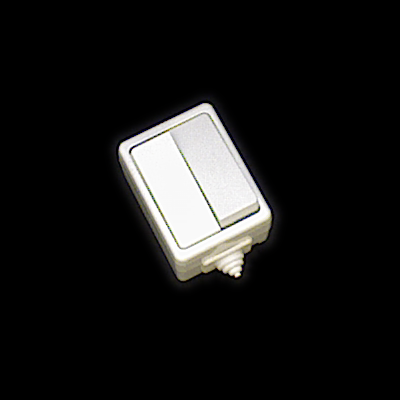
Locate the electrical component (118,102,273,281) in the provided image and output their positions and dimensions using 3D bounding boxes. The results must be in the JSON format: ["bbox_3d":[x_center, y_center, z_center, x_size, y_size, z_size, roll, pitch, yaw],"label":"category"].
[{"bbox_3d":[0.000,0.000,0.625,0.062,0.096,0.060,-26,-15,-8],"label":"electrical component"}]
